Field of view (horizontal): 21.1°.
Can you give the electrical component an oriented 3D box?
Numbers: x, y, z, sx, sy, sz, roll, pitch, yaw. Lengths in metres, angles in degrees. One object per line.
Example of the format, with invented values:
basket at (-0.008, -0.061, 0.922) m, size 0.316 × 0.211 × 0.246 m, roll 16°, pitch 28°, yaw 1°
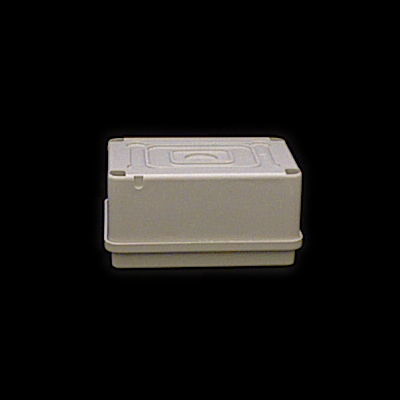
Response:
electrical component at (0.000, 0.000, 0.639) m, size 0.113 × 0.058 × 0.077 m, roll 0°, pitch 21°, yaw -5°
